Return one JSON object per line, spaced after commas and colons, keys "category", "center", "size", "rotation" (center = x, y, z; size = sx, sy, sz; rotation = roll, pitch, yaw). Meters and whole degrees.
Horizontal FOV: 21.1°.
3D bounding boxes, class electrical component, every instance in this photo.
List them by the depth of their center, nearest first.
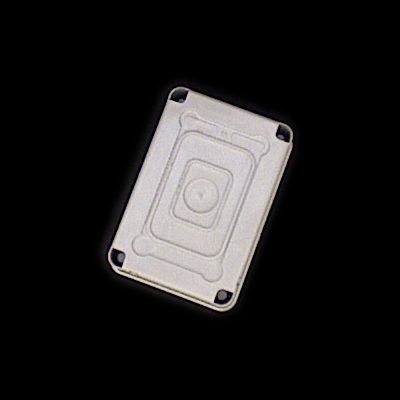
{"category": "electrical component", "center": [0.000, 0.000, 0.628], "size": [0.078, 0.113, 0.057], "rotation": [20, -6, 3]}
